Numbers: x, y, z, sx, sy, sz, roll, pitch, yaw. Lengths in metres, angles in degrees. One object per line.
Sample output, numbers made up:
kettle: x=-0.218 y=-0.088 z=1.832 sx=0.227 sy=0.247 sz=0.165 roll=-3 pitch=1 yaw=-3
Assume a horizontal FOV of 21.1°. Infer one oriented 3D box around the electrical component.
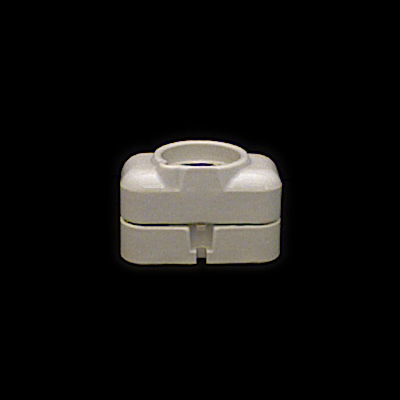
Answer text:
electrical component: x=0.000 y=0.000 z=0.644 sx=0.095 sy=0.060 sz=0.053 roll=0 pitch=21 yaw=-3
